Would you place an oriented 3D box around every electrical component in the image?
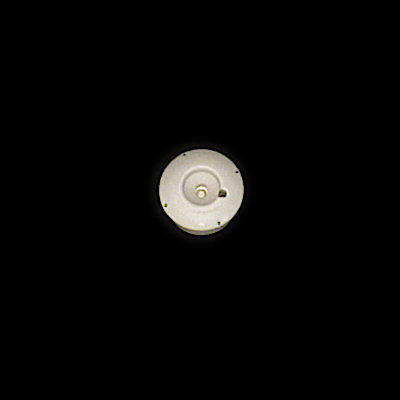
[{"bbox_3d":[0.000,0.000,0.634,0.048,0.048,0.062,0,-16,1],"label":"electrical component"}]
